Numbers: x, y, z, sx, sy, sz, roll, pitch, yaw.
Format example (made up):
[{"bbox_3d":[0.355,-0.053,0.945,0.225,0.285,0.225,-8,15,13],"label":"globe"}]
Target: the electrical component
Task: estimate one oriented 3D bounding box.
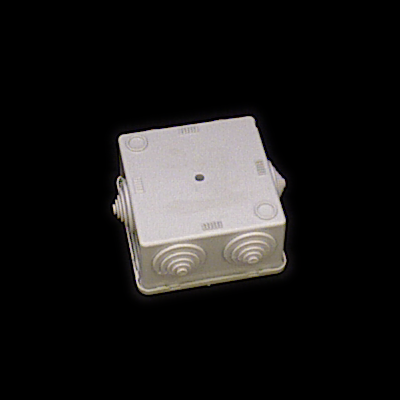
[{"bbox_3d":[0.000,0.000,0.633,0.100,0.099,0.049,-9,-36,-7],"label":"electrical component"}]
